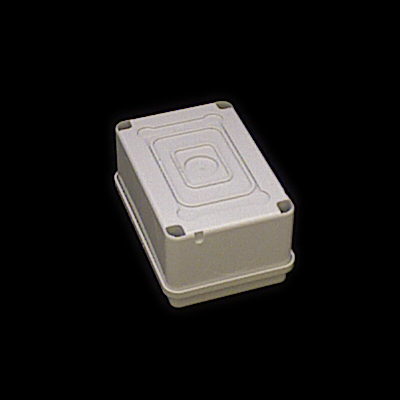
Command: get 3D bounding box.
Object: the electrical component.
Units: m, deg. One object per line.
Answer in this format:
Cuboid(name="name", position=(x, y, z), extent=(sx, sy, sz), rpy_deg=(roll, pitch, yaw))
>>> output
Cuboid(name="electrical component", position=(0.000, 0.000, 0.632), extent=(0.078, 0.057, 0.112), rpy_deg=(-13, 43, -14))
